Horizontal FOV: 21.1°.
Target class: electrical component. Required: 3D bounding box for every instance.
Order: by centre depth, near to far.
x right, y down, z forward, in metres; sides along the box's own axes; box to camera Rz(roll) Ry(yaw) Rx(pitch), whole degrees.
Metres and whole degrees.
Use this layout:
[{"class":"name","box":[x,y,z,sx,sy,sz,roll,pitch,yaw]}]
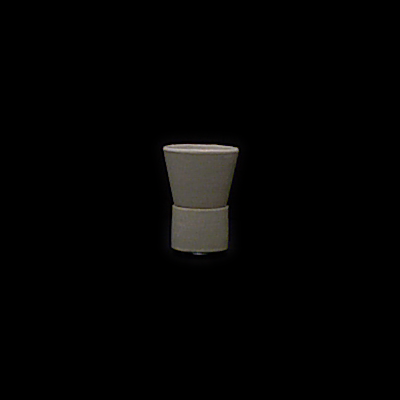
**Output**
[{"class":"electrical component","box":[0.000,0.000,0.646,0.044,0.066,0.044,1,10,0]}]
